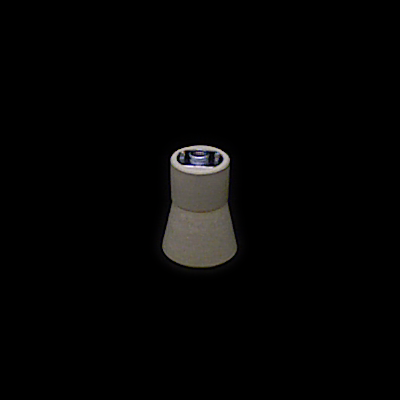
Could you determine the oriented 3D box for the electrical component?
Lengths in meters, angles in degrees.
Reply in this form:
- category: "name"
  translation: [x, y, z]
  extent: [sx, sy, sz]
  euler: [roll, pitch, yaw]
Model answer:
- category: "electrical component"
  translation: [0.000, 0.000, 0.635]
  extent: [0.044, 0.066, 0.044]
  euler: [1, 30, 0]
